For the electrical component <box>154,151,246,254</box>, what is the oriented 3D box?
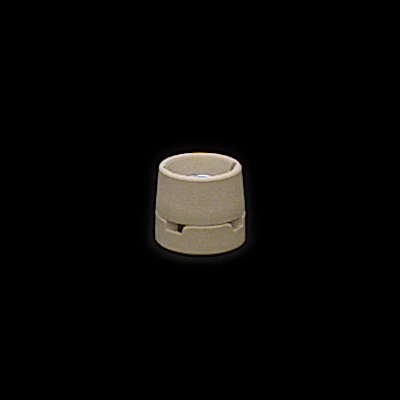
[{"bbox_3d":[0.000,0.000,0.641,0.055,0.047,0.055,0,21,0],"label":"electrical component"}]
